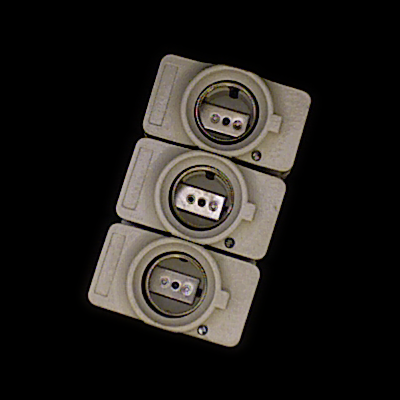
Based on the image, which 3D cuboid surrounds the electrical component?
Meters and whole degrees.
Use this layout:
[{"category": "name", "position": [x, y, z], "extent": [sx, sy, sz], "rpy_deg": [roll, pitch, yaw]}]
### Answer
[{"category": "electrical component", "position": [0.000, 0.000, 0.632], "extent": [0.089, 0.150, 0.061], "rpy_deg": [17, -5, 1]}]
